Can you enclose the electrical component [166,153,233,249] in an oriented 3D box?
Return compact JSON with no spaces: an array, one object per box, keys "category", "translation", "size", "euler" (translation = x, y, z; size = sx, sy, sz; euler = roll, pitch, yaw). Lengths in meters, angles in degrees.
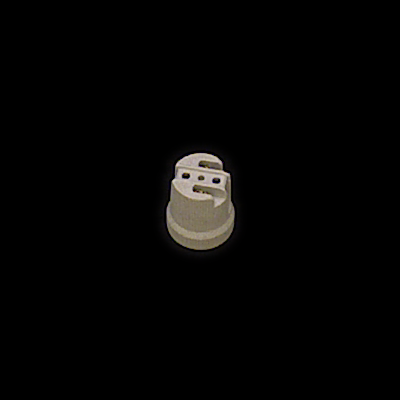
[{"category":"electrical component","translation":[0.000,0.000,0.633],"size":[0.040,0.040,0.046],"euler":[0,-37,0]}]
